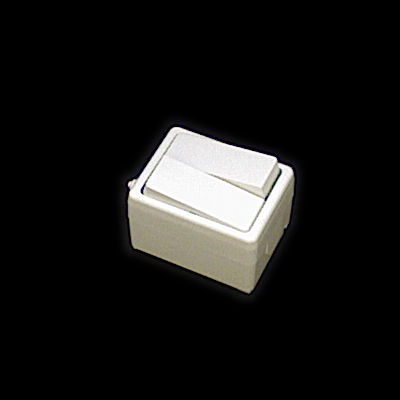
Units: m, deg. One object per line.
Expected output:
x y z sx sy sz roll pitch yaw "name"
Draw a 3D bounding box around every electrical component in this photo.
0.000 0.000 0.629 0.096 0.062 0.061 21 -35 15 "electrical component"
